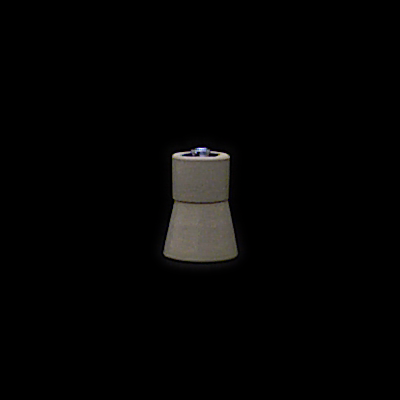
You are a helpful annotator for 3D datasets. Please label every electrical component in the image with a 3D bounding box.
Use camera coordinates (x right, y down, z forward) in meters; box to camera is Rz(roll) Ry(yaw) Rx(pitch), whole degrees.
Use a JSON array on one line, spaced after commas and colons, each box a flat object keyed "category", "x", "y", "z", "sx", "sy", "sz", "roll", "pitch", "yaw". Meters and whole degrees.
[{"category": "electrical component", "x": 0.000, "y": 0.000, "z": 0.645, "sx": 0.044, "sy": 0.066, "sz": 0.044, "roll": 0, "pitch": 11, "yaw": 0}]
